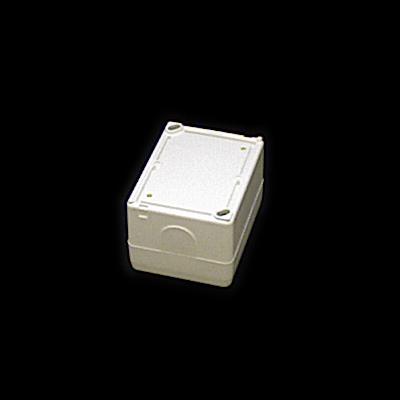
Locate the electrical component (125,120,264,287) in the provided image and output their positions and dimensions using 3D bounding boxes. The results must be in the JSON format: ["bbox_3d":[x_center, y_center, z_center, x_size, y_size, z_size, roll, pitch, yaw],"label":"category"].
[{"bbox_3d":[0.000,0.000,0.637,0.061,0.062,0.095,10,43,12],"label":"electrical component"}]
